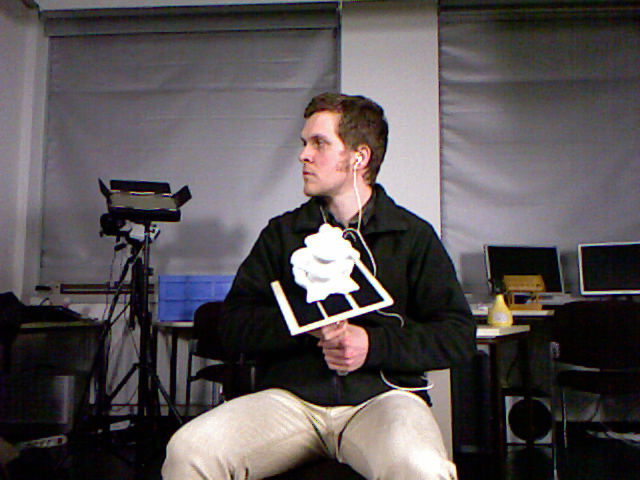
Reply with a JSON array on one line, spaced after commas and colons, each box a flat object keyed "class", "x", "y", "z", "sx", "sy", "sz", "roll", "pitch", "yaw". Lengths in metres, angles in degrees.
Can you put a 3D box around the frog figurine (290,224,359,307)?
[{"class": "frog figurine", "x": 0.006, "y": 0.033, "z": 1.013, "sx": 0.137, "sy": 0.157, "sz": 0.125, "roll": -5, "pitch": 26, "yaw": 10}]
